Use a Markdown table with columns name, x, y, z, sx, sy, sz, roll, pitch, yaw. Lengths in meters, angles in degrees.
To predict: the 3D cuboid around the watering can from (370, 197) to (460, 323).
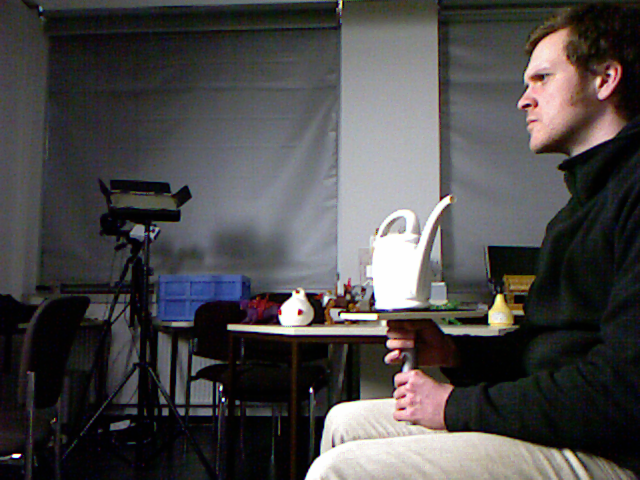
| name | x | y | z | sx | sy | sz | roll | pitch | yaw |
| --- | --- | --- | --- | --- | --- | --- | --- | --- | --- |
| watering can | 0.166 | 0.042 | 0.958 | 0.104 | 0.226 | 0.345 | -2 | -6 | -15 |
